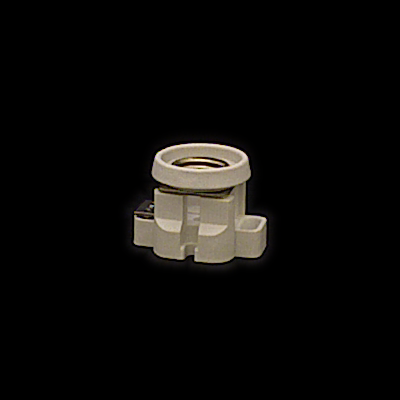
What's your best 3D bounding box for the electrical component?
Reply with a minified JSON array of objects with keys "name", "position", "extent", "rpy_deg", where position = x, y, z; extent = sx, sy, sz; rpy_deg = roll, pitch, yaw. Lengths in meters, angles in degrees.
[{"name":"electrical component","position":[0.000,0.000,0.638],"extent":[0.078,0.057,0.057],"rpy_deg":[6,22,13]}]
